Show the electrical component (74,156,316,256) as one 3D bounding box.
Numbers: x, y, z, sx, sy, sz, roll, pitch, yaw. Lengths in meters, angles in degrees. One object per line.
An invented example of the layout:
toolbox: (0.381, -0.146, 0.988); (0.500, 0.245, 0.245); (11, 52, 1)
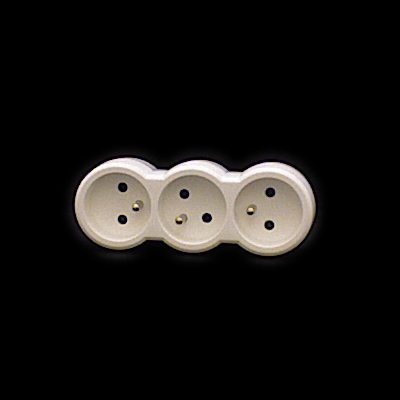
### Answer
electrical component: (0.000, 0.000, 0.645); (0.138, 0.052, 0.073); (2, 9, 6)
